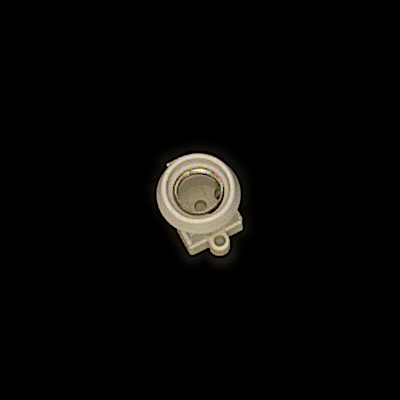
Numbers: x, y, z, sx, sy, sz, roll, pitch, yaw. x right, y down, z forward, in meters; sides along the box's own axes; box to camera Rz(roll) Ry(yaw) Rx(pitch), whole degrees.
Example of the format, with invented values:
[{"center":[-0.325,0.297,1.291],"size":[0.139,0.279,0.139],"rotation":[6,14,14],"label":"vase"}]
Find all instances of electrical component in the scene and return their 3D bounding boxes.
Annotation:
[{"center":[0.000,0.000,0.637],"size":[0.049,0.066,0.055],"rotation":[-28,-14,-9],"label":"electrical component"}]
